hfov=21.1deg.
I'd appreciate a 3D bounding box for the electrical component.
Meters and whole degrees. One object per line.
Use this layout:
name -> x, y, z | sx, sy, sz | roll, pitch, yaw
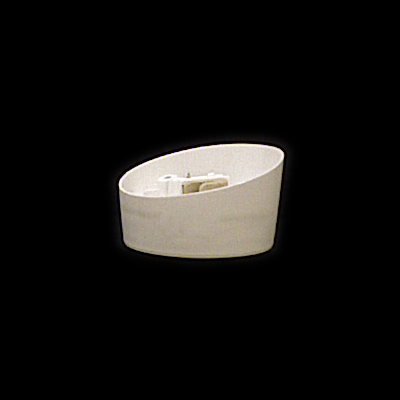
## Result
electrical component -> 0.000, 0.000, 0.645 | 0.099, 0.064, 0.098 | 2, 9, 0
